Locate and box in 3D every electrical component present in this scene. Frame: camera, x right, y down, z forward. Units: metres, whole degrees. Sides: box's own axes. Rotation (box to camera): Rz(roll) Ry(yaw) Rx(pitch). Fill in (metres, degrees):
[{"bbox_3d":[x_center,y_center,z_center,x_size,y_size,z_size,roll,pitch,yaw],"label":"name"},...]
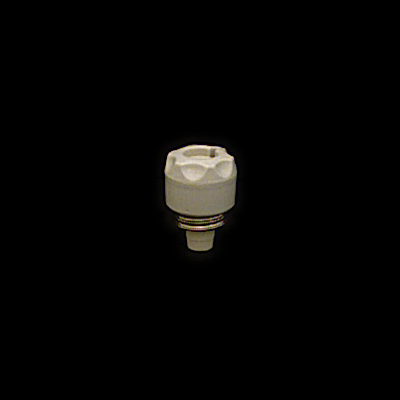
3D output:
[{"bbox_3d":[0.000,0.000,0.645,0.043,0.063,0.043,1,23,0],"label":"electrical component"}]
